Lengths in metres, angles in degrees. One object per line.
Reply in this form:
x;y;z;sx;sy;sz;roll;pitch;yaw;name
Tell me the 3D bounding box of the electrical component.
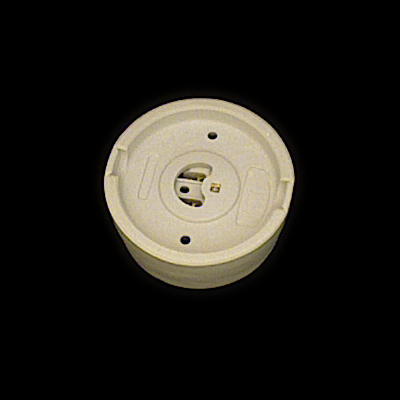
0.000;0.000;0.634;0.108;0.108;0.060;0;-27;0;electrical component
